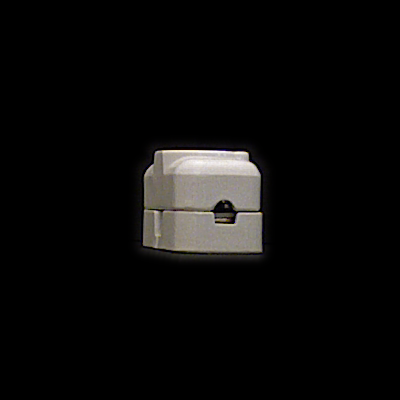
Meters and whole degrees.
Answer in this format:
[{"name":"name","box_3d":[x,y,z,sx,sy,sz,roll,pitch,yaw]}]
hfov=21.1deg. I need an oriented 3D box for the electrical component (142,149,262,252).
[{"name":"electrical component","box_3d":[0.000,0.000,0.657,0.054,0.059,0.094,0,1,-19]}]
